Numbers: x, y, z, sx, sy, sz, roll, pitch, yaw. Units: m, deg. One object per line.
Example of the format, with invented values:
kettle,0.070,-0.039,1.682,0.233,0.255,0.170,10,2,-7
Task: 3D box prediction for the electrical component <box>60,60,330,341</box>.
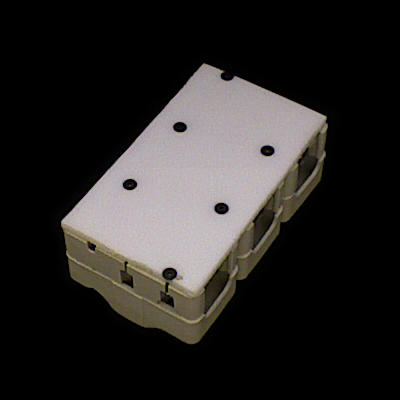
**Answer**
electrical component,0.000,0.000,0.635,0.089,0.148,0.063,27,-34,19
